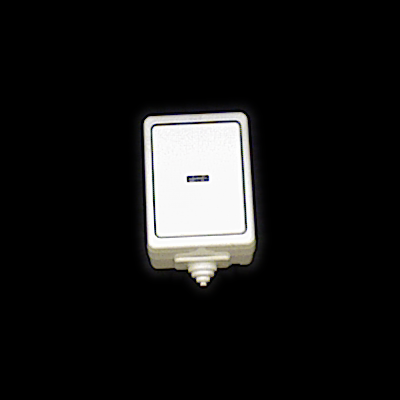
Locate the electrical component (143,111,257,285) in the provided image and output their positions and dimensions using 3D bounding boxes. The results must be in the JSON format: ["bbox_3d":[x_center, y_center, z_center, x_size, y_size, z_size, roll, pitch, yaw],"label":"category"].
[{"bbox_3d":[0.000,0.000,0.625,0.062,0.097,0.060,-3,-17,-1],"label":"electrical component"}]
